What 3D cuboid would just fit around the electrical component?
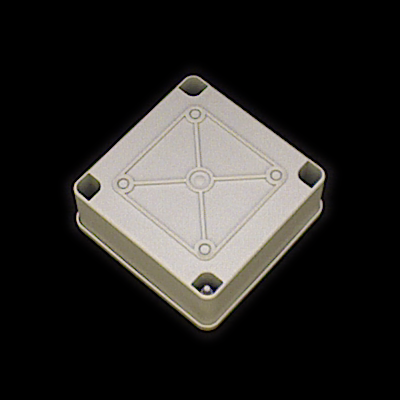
[{"bbox_3d":[0.000,0.000,0.627,0.108,0.109,0.056,38,-21,17],"label":"electrical component"}]
